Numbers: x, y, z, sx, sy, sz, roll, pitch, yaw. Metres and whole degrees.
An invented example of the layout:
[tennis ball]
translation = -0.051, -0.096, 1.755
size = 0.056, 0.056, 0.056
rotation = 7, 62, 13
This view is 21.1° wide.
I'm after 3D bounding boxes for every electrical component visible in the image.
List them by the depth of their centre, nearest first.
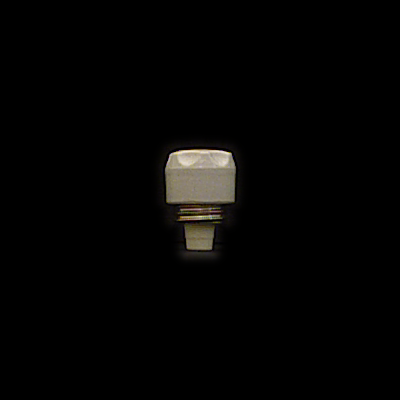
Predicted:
[electrical component]
translation = 0.000, 0.000, 0.656
size = 0.043, 0.062, 0.043
rotation = 1, 2, 1
